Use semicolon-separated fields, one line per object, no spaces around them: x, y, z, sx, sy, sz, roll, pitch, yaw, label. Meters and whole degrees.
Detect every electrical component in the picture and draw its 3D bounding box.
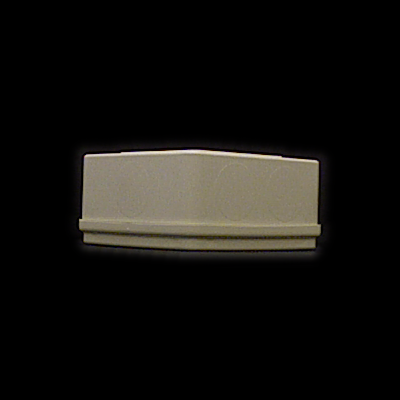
0.000;0.000;0.651;0.109;0.056;0.108;2;0;-42;electrical component
